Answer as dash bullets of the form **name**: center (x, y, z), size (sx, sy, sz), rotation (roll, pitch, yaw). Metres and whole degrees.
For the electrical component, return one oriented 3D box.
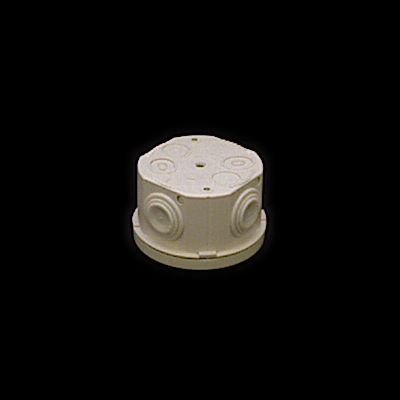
- **electrical component**: center (0.000, 0.000, 0.636), size (0.080, 0.051, 0.079), rotation (1, 32, 0)
